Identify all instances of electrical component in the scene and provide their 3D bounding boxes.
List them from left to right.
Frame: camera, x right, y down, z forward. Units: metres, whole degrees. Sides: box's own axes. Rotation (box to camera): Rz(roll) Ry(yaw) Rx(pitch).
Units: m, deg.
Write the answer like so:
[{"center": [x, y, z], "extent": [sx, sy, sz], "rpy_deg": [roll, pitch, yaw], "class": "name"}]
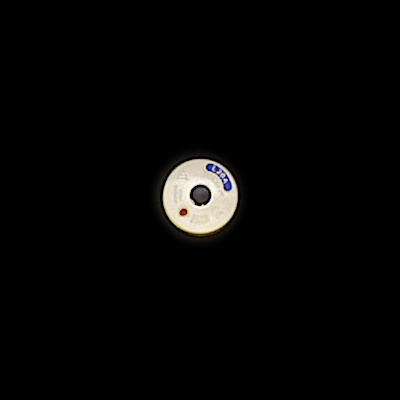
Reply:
[{"center": [0.000, 0.000, 0.617], "extent": [0.040, 0.040, 0.078], "rpy_deg": [0, -5, 1], "class": "electrical component"}]
